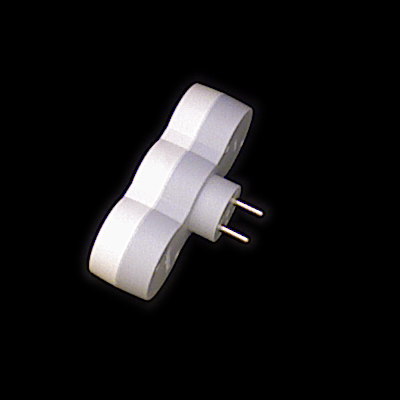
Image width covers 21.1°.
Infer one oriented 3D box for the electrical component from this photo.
[{"bbox_3d":[0.000,0.000,0.632,0.073,0.138,0.052,25,-25,10],"label":"electrical component"}]
